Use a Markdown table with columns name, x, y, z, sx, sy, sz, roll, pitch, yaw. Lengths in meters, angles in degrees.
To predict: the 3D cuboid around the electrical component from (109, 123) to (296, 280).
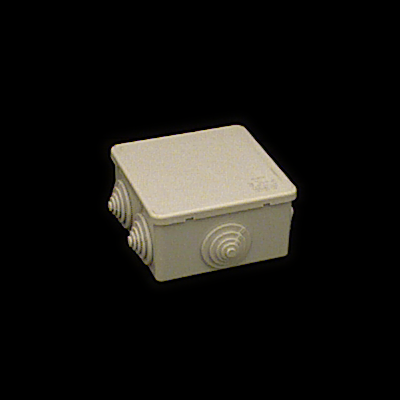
| name | x | y | z | sx | sy | sz | roll | pitch | yaw |
| --- | --- | --- | --- | --- | --- | --- | --- | --- | --- |
| electrical component | 0.000 | 0.000 | 0.645 | 0.100 | 0.049 | 0.098 | -10 | 34 | -18 |
